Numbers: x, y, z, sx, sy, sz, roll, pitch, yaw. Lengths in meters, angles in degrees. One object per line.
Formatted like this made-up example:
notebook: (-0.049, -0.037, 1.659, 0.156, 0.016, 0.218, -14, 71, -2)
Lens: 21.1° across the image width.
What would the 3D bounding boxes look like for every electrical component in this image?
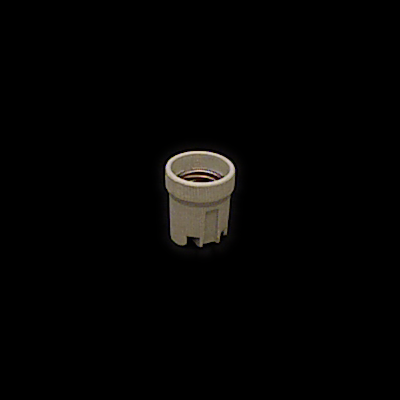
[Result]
electrical component: (0.000, 0.000, 0.634, 0.040, 0.047, 0.039, 1, 32, 0)
